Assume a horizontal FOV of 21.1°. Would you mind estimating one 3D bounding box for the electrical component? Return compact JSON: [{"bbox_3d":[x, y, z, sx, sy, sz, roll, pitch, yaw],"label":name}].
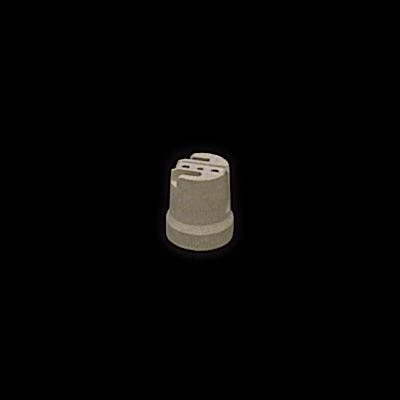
[{"bbox_3d":[0.000,0.000,0.639,0.040,0.046,0.040,1,32,0],"label":"electrical component"}]
